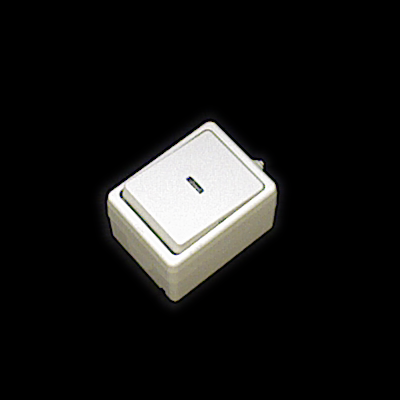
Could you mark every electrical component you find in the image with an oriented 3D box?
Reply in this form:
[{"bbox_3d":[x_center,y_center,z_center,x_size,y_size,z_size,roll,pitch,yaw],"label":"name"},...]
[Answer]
[{"bbox_3d":[0.000,0.000,0.626,0.096,0.062,0.061,-37,-21,-17],"label":"electrical component"}]
